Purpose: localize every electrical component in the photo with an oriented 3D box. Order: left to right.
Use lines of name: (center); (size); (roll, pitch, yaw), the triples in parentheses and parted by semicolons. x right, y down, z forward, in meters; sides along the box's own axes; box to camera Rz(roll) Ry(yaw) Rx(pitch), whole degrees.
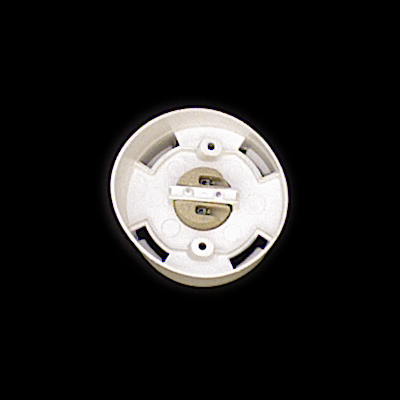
electrical component: (0.000, 0.000, 0.623); (0.099, 0.099, 0.064); (0, -16, 1)
